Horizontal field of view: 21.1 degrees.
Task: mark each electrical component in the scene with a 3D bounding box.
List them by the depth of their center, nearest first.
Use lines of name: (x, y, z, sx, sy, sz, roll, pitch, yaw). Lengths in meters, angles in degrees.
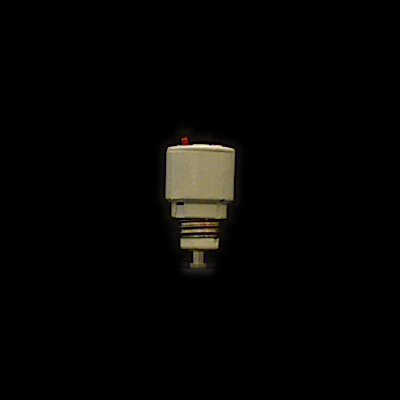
electrical component: (0.000, 0.000, 0.648, 0.040, 0.078, 0.040, 1, 2, 0)
